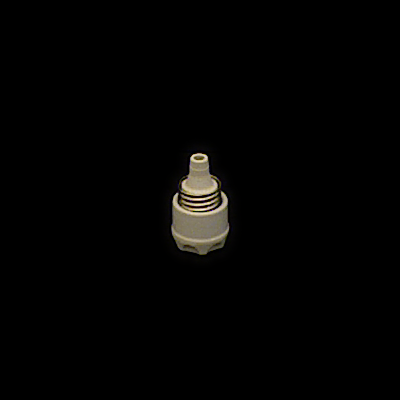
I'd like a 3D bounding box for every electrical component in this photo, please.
[{"bbox_3d":[0.000,0.000,0.646,0.035,0.062,0.034,-1,32,1],"label":"electrical component"}]
